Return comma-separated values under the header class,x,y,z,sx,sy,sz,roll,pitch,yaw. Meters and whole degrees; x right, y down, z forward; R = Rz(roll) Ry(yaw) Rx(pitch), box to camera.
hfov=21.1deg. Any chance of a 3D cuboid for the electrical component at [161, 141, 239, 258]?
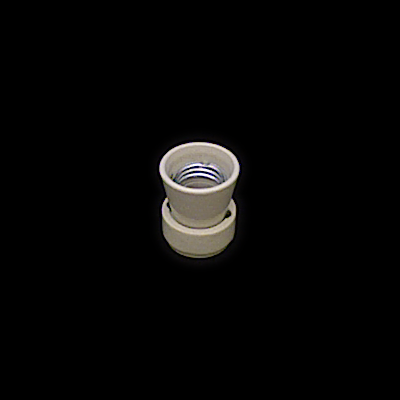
class,x,y,z,sx,sy,sz,roll,pitch,yaw
electrical component,0.000,0.000,0.631,0.045,0.055,0.044,0,43,0
